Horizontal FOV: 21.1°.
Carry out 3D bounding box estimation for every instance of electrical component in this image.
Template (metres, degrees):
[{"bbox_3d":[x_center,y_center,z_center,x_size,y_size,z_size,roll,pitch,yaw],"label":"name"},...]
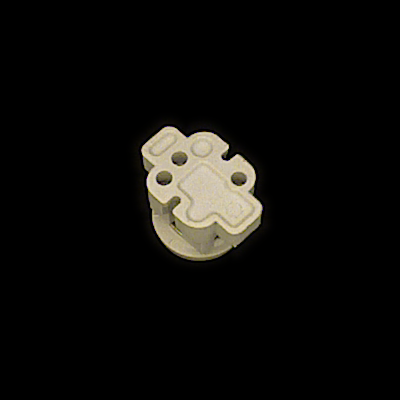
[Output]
[{"bbox_3d":[0.000,0.000,0.636,0.078,0.058,0.056,41,-20,17],"label":"electrical component"}]
